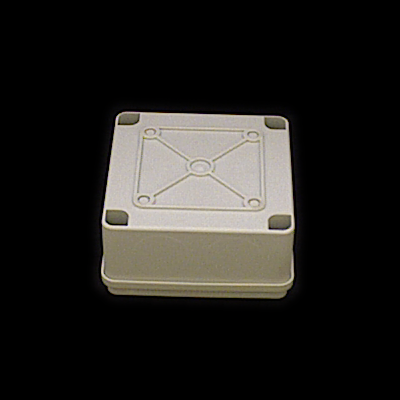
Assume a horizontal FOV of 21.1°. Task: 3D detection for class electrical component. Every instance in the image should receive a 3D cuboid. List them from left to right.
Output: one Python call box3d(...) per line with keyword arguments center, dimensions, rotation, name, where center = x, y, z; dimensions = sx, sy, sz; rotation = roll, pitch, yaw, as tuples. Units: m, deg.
box3d(center=(0.000, 0.000, 0.631), dimensions=(0.109, 0.057, 0.107), rotation=(2, 42, 0), name="electrical component")
